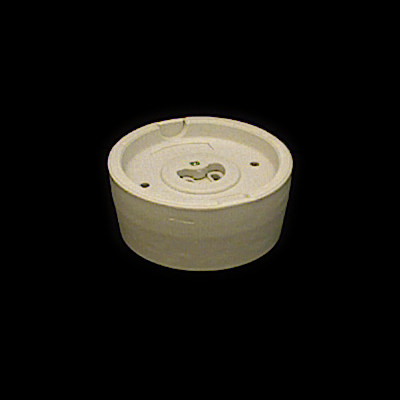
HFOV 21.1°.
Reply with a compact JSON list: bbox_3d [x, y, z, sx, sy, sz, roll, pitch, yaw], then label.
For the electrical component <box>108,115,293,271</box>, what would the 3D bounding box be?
[{"bbox_3d":[0.000,0.000,0.643,0.108,0.061,0.106,1,32,0],"label":"electrical component"}]
